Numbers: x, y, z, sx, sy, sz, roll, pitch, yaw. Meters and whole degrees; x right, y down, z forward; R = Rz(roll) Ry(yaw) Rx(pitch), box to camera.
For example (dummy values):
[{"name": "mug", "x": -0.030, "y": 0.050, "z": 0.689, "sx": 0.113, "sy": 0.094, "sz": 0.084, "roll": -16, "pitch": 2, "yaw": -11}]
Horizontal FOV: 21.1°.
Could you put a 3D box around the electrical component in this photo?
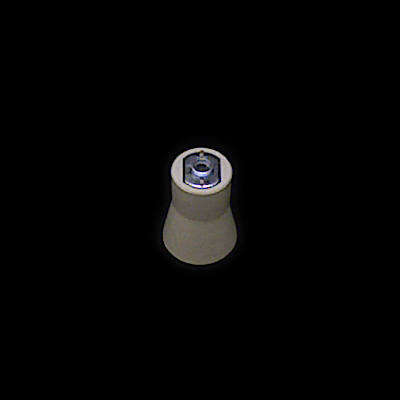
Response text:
[{"name": "electrical component", "x": 0.000, "y": 0.000, "z": 0.626, "sx": 0.044, "sy": 0.044, "sz": 0.065, "roll": 0, "pitch": -38, "yaw": -2}]
